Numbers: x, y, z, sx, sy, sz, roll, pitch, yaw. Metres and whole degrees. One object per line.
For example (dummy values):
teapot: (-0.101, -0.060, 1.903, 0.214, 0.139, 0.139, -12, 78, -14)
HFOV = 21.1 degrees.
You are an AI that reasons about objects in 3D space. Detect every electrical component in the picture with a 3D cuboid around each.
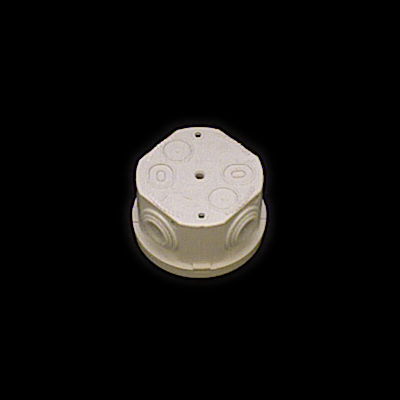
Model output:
electrical component: (0.000, 0.000, 0.632, 0.080, 0.080, 0.051, 0, -37, -1)
